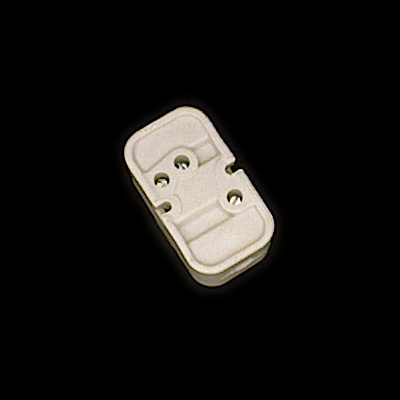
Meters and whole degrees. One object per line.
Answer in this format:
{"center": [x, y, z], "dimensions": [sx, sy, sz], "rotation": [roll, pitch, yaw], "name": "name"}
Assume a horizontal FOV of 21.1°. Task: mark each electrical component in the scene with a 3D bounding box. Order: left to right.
{"center": [0.000, 0.000, 0.634], "dimensions": [0.054, 0.095, 0.059], "rotation": [-31, -13, -8], "name": "electrical component"}
